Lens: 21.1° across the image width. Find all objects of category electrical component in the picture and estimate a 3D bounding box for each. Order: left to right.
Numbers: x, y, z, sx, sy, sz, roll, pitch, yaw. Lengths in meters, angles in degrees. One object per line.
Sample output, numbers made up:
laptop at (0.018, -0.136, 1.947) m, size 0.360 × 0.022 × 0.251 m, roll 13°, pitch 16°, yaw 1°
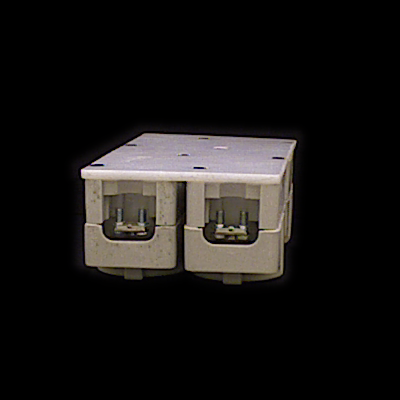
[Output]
electrical component at (0.000, 0.000, 0.644) m, size 0.105 × 0.060 × 0.185 m, roll 3°, pitch 10°, yaw 7°
